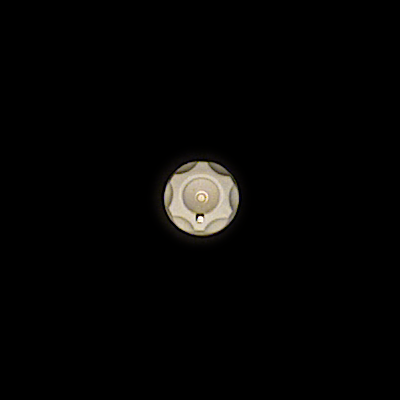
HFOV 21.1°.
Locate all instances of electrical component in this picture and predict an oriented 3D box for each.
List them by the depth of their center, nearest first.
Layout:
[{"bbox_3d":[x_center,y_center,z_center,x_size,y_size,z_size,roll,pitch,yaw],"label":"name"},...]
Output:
[{"bbox_3d":[0.000,0.000,0.635,0.043,0.043,0.062,0,-6,1],"label":"electrical component"}]
